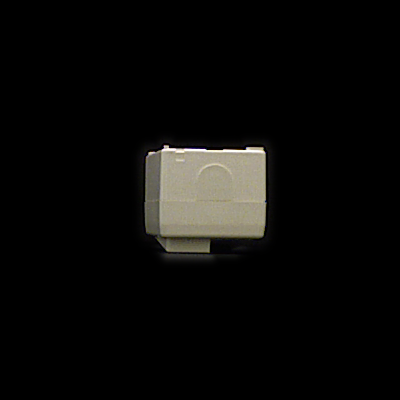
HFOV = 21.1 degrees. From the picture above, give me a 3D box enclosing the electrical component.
[{"bbox_3d":[0.000,0.000,0.657,0.062,0.061,0.096,1,0,-10],"label":"electrical component"}]
